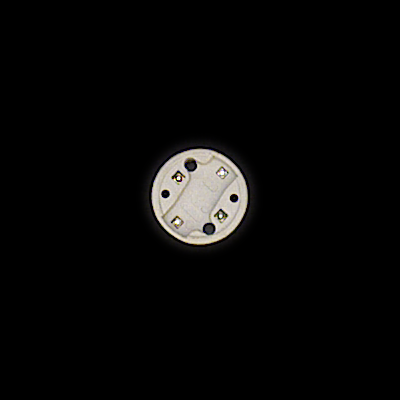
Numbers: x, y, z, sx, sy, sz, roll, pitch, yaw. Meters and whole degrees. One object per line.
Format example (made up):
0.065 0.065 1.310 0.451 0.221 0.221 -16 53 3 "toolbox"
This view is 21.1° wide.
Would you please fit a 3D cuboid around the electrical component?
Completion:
0.000 0.000 0.635 0.055 0.056 0.047 0 -7 0 "electrical component"
